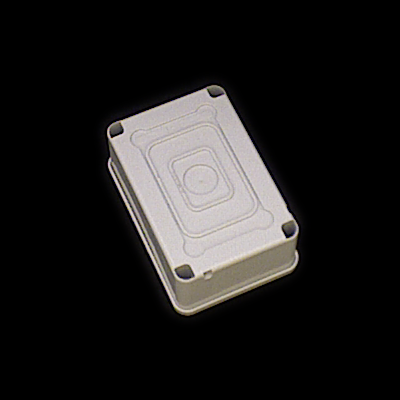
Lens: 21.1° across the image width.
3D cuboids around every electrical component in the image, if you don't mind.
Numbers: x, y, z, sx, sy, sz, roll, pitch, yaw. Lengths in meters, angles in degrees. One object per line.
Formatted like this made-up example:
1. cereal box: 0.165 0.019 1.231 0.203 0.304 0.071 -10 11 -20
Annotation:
1. electrical component: 0.000 0.000 0.628 0.078 0.113 0.057 -22 -25 -11
